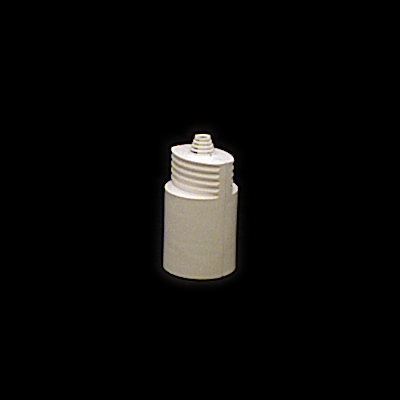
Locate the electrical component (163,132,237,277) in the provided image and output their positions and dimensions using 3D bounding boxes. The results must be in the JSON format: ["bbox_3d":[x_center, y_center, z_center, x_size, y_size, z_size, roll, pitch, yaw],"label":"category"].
[{"bbox_3d":[0.000,0.000,0.634,0.043,0.082,0.042,1,21,0],"label":"electrical component"}]
